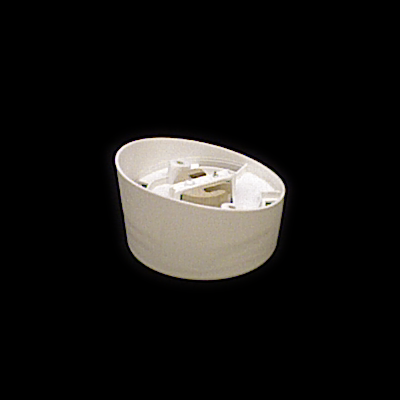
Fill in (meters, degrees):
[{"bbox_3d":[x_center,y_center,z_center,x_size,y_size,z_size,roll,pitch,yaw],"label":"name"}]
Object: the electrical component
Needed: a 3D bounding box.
[{"bbox_3d":[0.000,0.000,0.631,0.099,0.065,0.097,0,32,0],"label":"electrical component"}]
